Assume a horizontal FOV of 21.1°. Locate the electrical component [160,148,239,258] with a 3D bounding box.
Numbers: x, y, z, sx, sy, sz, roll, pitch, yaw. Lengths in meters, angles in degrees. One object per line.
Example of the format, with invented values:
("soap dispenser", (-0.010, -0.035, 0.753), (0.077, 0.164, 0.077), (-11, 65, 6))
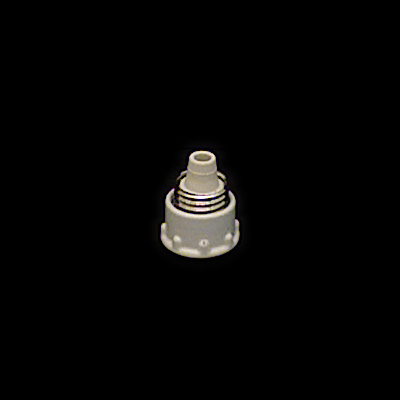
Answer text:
("electrical component", (0.000, 0.000, 0.641), (0.048, 0.063, 0.047), (1, 33, 0))
